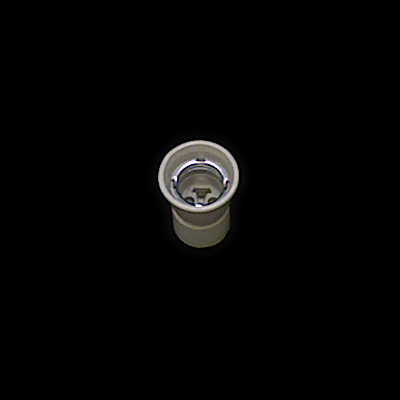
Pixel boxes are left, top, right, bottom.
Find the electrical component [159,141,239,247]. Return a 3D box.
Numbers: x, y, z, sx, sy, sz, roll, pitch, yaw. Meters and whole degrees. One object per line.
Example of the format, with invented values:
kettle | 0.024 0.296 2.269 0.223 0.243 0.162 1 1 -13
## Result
electrical component | 0.000 0.000 0.624 0.044 0.044 0.065 0 -27 1
